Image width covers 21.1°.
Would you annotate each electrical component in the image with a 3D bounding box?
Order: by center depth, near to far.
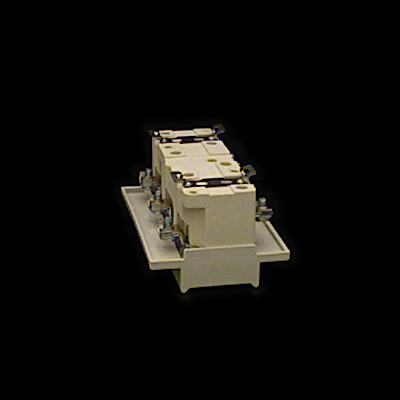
[{"bbox_3d":[0.000,0.000,0.644,0.079,0.064,0.119,-4,22,-11],"label":"electrical component"}]
